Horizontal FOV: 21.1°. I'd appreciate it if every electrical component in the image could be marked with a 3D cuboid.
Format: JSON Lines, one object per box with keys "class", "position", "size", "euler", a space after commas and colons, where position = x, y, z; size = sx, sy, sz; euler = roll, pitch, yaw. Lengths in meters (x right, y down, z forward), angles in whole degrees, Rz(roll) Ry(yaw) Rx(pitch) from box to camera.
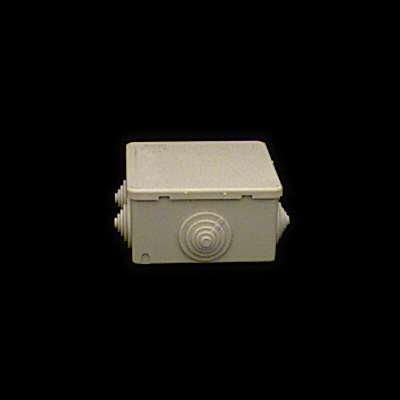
{"class": "electrical component", "position": [0.000, 0.000, 0.648], "size": [0.100, 0.049, 0.098], "euler": [-1, 22, -5]}
